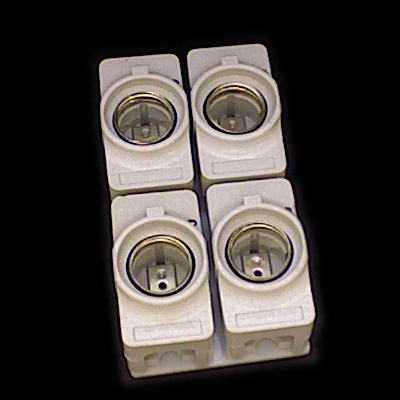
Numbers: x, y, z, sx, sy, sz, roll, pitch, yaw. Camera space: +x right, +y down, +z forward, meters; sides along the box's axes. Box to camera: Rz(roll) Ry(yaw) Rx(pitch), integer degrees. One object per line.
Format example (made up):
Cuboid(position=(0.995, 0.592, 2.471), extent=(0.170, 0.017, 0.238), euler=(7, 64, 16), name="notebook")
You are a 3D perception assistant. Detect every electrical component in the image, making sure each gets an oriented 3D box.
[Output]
Cuboid(position=(0.000, 0.000, 0.625), extent=(0.105, 0.186, 0.060), euler=(-6, -27, -3), name="electrical component")
